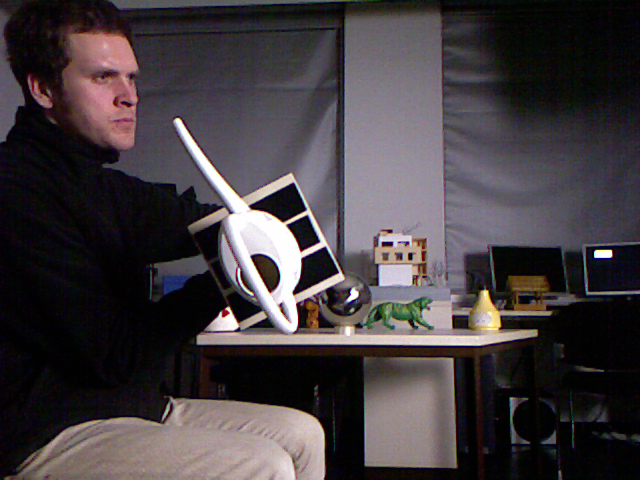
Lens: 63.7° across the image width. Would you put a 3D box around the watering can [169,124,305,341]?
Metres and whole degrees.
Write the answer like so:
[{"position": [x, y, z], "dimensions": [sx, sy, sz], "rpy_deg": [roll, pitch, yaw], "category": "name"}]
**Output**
[{"position": [-0.111, -0.015, 0.795], "dimensions": [0.104, 0.348, 0.226], "rpy_deg": [-25, 4, 7], "category": "watering can"}]
